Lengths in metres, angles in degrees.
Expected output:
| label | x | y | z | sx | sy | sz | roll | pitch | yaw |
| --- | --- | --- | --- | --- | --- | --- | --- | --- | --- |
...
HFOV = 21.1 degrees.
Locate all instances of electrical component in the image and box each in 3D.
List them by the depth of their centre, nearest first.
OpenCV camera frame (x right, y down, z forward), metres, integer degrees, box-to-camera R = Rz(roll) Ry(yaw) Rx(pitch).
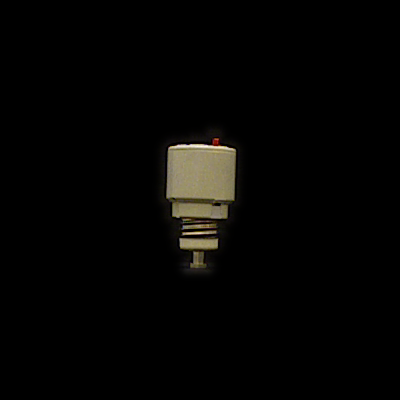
| label | x | y | z | sx | sy | sz | roll | pitch | yaw |
| --- | --- | --- | --- | --- | --- | --- | --- | --- | --- |
| electrical component | 0.000 | 0.000 | 0.647 | 0.040 | 0.078 | 0.040 | 2 | 1 | 0 |
